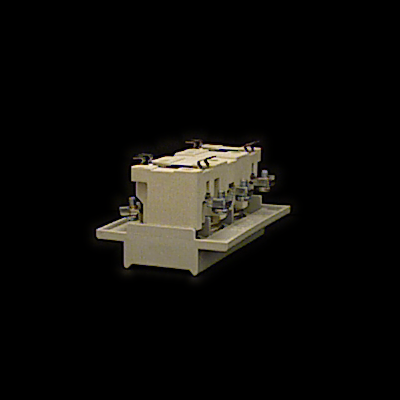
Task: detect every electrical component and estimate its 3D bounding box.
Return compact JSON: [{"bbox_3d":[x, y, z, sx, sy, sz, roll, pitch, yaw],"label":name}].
[{"bbox_3d":[0.000,0.000,0.651,0.078,0.063,0.121,5,11,20],"label":"electrical component"}]
